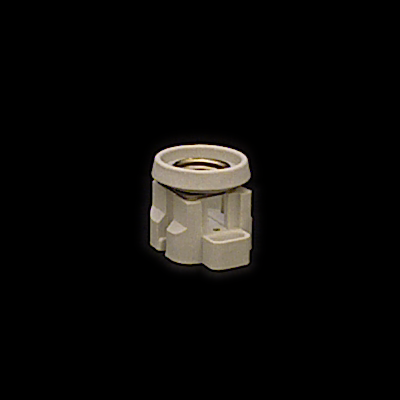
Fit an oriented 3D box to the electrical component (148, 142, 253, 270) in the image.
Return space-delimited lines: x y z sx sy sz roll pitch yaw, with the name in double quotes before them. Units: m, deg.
"electrical component" 0.000 0.000 0.640 0.058 0.057 0.077 -11 24 -28
